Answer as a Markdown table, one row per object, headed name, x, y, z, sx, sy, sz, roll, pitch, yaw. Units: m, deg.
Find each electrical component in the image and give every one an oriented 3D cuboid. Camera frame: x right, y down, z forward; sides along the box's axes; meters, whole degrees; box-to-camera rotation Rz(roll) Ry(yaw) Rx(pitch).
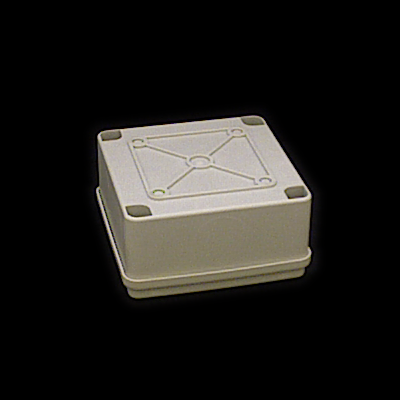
| name | x | y | z | sx | sy | sz | roll | pitch | yaw |
| --- | --- | --- | --- | --- | --- | --- | --- | --- | --- |
| electrical component | 0.000 | 0.000 | 0.632 | 0.109 | 0.057 | 0.107 | -7 | 33 | -12 |
